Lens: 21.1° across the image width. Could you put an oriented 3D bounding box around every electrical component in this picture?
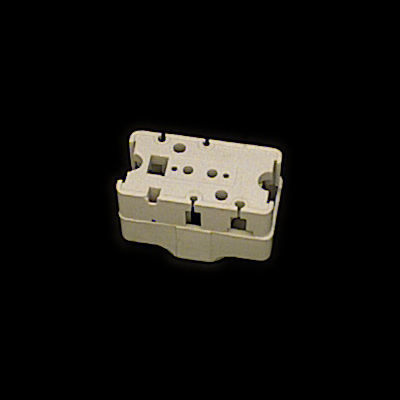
[{"bbox_3d":[0.000,0.000,0.637,0.089,0.050,0.056,8,-36,6],"label":"electrical component"}]
